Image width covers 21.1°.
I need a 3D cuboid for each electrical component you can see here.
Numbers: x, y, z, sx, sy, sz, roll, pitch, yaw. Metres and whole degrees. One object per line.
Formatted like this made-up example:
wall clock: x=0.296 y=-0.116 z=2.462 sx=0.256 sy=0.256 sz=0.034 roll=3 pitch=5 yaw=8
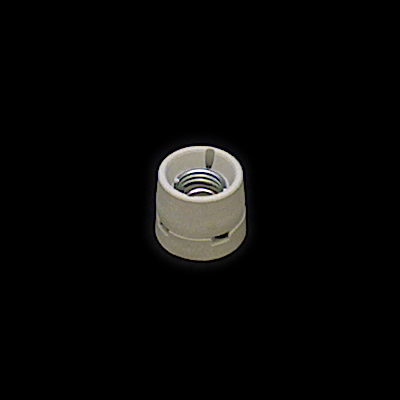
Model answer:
electrical component: x=0.000 y=0.000 z=0.634 sx=0.055 sy=0.047 sz=0.055 roll=0 pitch=43 yaw=0
